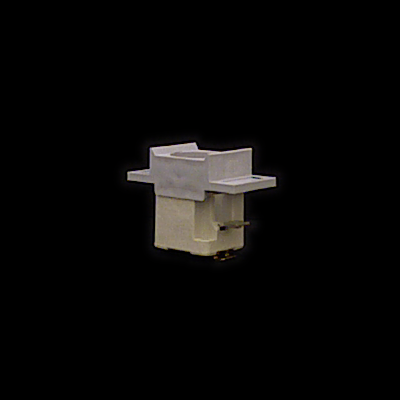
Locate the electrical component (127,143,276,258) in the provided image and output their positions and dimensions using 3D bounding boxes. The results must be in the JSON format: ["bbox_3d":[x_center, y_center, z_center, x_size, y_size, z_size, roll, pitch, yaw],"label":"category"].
[{"bbox_3d":[0.000,0.000,0.642,0.080,0.064,0.042,9,13,38],"label":"electrical component"}]
